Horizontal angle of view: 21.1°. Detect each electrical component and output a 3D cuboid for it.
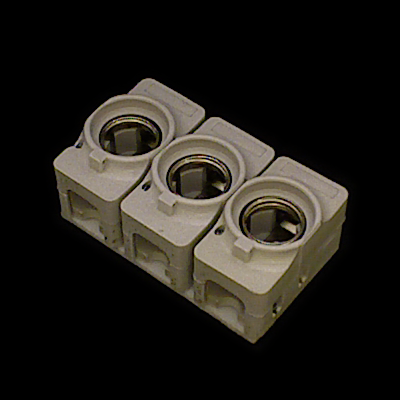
[{"bbox_3d":[0.000,0.000,0.632,0.149,0.089,0.062,31,-31,22],"label":"electrical component"}]
